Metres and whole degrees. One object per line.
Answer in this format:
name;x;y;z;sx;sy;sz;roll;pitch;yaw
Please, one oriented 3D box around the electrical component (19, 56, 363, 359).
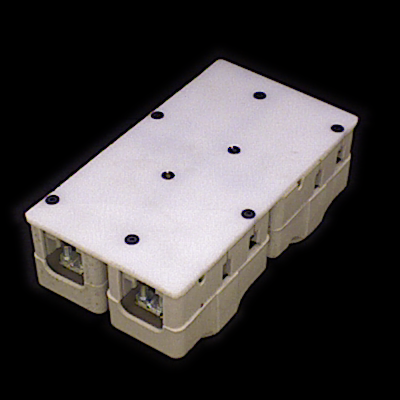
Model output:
electrical component;0.000;0.000;0.630;0.105;0.061;0.185;26;48;25
